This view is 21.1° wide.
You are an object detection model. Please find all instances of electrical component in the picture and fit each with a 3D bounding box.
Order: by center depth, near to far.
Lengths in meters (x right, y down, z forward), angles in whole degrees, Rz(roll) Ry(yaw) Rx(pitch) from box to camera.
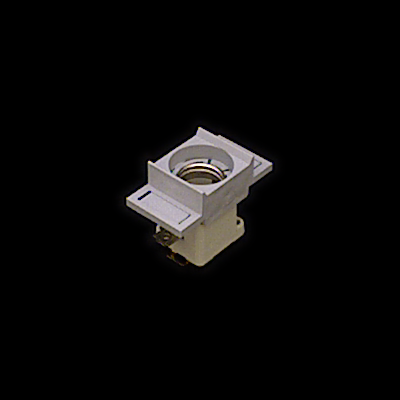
[{"bbox_3d":[0.000,0.000,0.627,0.042,0.064,0.081,32,50,29],"label":"electrical component"}]
